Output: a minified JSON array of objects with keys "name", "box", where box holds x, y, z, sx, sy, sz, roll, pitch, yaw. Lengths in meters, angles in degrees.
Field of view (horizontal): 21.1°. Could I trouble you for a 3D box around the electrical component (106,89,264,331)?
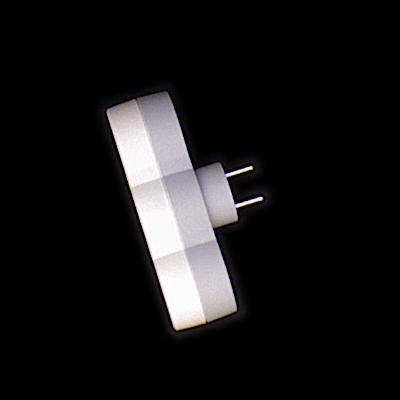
[{"name":"electrical component","box":[0.000,0.000,0.632,0.074,0.138,0.052,-18,-7,-4]}]
